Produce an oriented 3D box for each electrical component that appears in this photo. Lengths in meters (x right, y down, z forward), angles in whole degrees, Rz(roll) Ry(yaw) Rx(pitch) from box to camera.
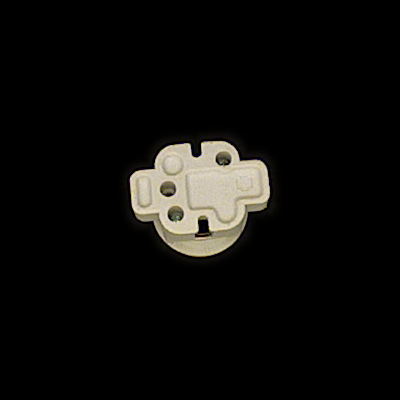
[{"bbox_3d":[0.000,0.000,0.636,0.079,0.058,0.056,-6,-17,-3],"label":"electrical component"}]
